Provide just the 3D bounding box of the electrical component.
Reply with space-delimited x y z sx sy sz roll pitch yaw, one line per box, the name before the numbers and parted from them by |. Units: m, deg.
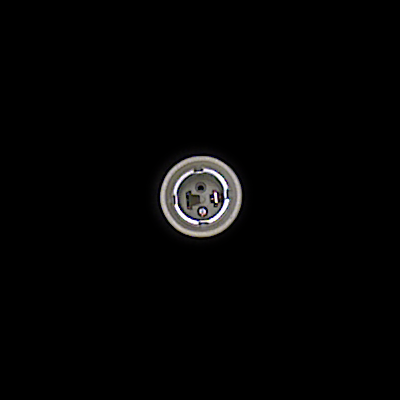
electrical component | 0.000 0.000 0.624 0.044 0.044 0.065 0 -5 0
